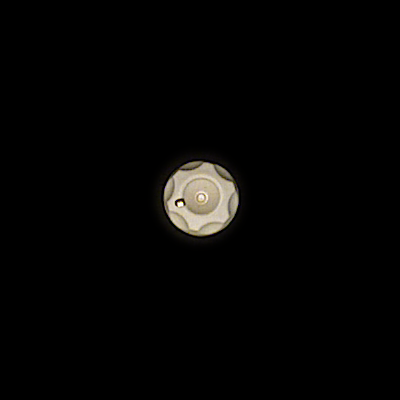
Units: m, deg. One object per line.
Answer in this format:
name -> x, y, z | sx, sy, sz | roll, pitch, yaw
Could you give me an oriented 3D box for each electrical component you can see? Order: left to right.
electrical component -> 0.000, 0.000, 0.635 | 0.043, 0.043, 0.062 | 0, -6, 0
